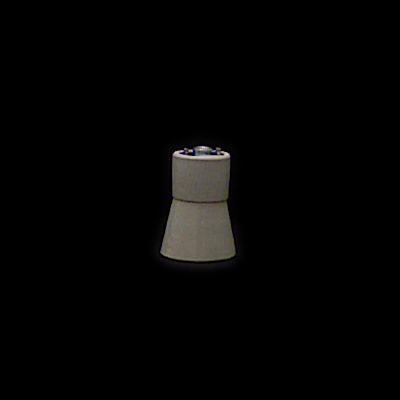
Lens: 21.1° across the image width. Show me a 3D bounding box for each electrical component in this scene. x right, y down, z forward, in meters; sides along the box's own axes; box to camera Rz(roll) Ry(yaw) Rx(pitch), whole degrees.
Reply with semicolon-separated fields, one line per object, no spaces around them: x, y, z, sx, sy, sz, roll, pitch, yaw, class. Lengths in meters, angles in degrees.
0.000;0.000;0.642;0.044;0.066;0.044;2;12;0;electrical component
